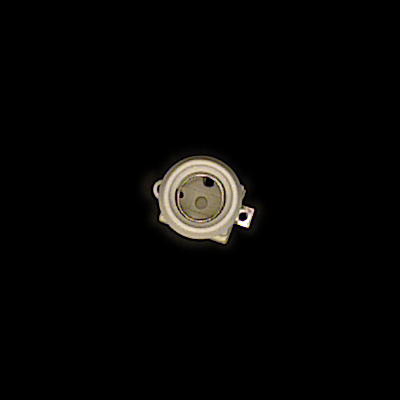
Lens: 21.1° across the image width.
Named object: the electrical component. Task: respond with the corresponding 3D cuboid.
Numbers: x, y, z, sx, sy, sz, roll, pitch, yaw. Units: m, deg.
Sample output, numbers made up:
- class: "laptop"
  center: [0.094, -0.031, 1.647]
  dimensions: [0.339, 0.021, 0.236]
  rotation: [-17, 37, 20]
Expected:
- class: "electrical component"
  center: [0.000, 0.000, 0.639]
  dimensions: [0.066, 0.048, 0.055]
  rotation: [18, -3, 2]
